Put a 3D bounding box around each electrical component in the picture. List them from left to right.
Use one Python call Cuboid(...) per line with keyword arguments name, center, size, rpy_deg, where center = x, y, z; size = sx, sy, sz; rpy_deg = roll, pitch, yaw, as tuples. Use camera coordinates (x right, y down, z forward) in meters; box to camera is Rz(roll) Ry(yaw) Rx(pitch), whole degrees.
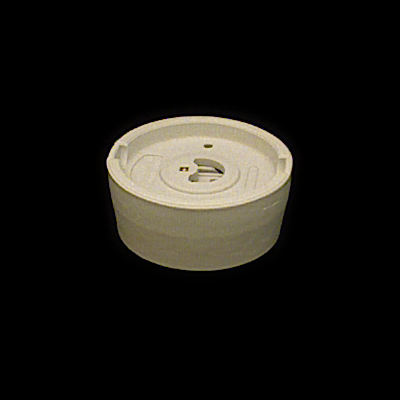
Cuboid(name="electrical component", center=(0.000, 0.000, 0.639), size=(0.108, 0.061, 0.106), rpy_deg=(2, 32, 0))
